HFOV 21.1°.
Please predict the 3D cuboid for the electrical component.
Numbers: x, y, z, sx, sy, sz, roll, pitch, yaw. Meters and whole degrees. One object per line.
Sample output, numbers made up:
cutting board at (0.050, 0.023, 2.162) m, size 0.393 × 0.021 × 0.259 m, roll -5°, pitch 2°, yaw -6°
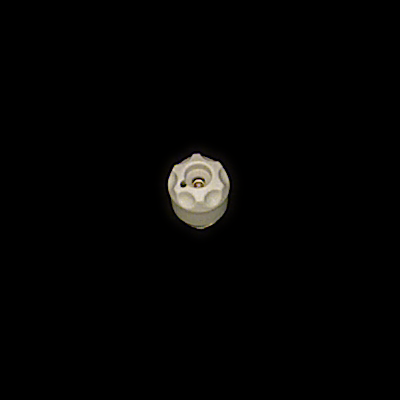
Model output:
electrical component at (0.000, 0.000, 0.633) m, size 0.035 × 0.035 × 0.061 m, roll 0°, pitch -27°, yaw 1°
